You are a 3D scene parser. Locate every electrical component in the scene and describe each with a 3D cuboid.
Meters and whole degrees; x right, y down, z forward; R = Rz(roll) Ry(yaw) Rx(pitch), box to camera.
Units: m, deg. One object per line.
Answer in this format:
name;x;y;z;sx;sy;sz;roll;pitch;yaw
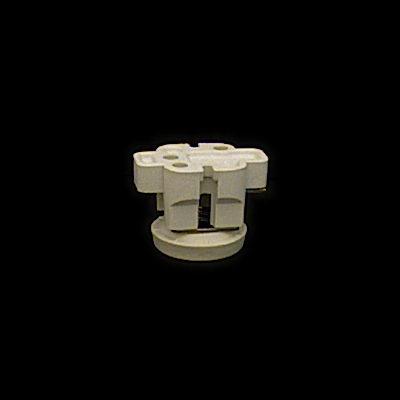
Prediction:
electrical component;0.000;0.000;0.648;0.079;0.057;0.057;-2;21;-12
